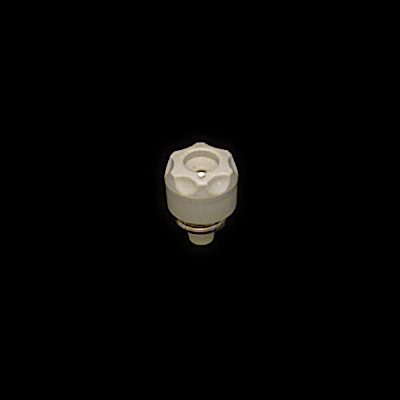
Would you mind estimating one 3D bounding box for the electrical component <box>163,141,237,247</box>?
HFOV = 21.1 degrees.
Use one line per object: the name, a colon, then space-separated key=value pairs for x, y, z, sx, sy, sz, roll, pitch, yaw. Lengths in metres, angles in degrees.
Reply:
electrical component: x=0.000 y=0.000 z=0.639 sx=0.043 sy=0.062 sz=0.043 roll=0 pitch=42 yaw=0
